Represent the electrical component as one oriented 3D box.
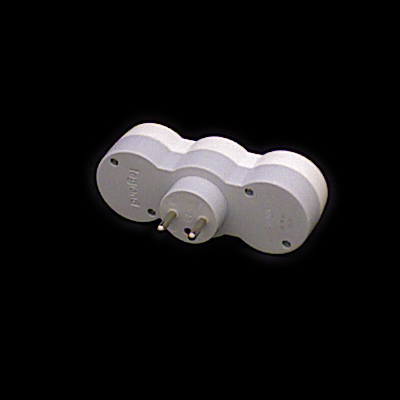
[{"bbox_3d":[0.000,0.000,0.636,0.138,0.053,0.073,13,36,18],"label":"electrical component"}]
